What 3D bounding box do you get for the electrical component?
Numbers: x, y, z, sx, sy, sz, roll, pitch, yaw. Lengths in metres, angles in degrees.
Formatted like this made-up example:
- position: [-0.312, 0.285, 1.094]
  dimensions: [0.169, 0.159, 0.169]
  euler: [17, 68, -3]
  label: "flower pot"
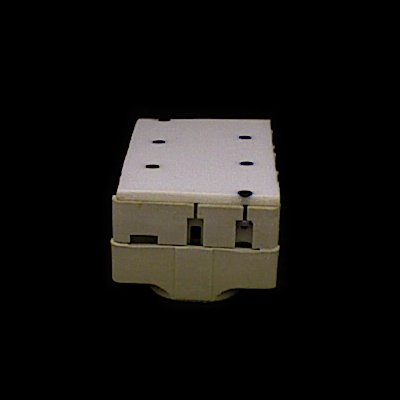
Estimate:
- position: [0.000, 0.000, 0.642]
  dimensions: [0.089, 0.063, 0.147]
  euler: [1, 21, 1]
  label: "electrical component"
